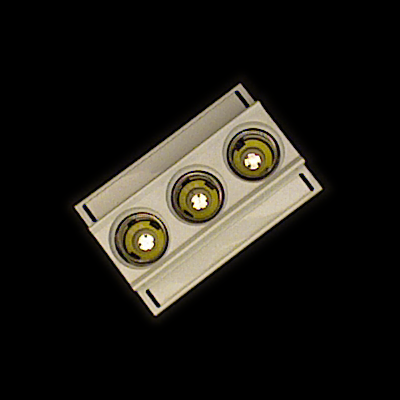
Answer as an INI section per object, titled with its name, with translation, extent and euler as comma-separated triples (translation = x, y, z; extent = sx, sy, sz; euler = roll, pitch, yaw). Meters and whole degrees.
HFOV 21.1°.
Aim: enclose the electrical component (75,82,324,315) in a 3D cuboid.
[electrical component]
translation = 0.000, 0.000, 0.637
extent = 0.121, 0.079, 0.063
euler = -37, -6, -3
